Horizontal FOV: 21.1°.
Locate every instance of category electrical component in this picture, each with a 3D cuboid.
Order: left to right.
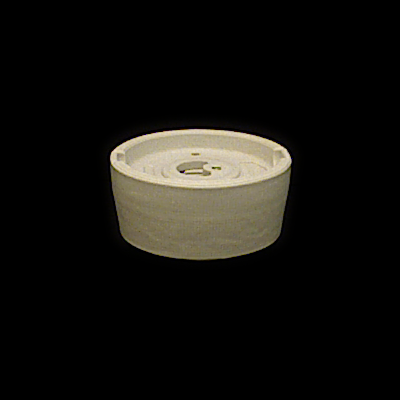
[{"bbox_3d":[0.000,0.000,0.649,0.108,0.061,0.106,1,21,0],"label":"electrical component"}]
